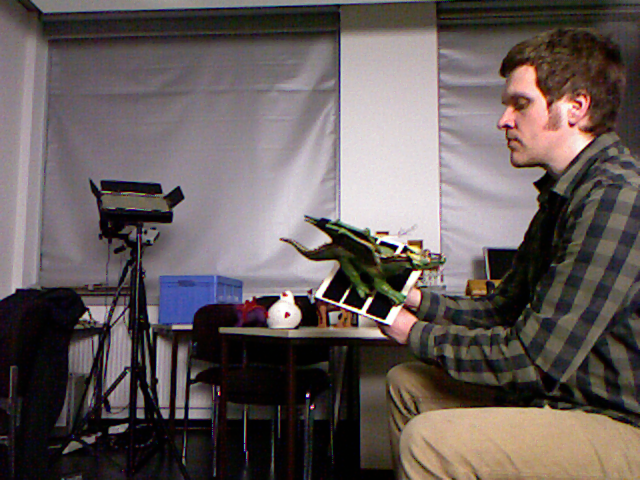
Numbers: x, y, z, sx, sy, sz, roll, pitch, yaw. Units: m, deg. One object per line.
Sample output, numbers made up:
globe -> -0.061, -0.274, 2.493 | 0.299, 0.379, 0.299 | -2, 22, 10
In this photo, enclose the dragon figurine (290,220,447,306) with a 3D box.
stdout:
dragon figurine -> 0.065, 0.018, 1.088 | 0.413, 0.125, 0.239 | 13, -26, 28
